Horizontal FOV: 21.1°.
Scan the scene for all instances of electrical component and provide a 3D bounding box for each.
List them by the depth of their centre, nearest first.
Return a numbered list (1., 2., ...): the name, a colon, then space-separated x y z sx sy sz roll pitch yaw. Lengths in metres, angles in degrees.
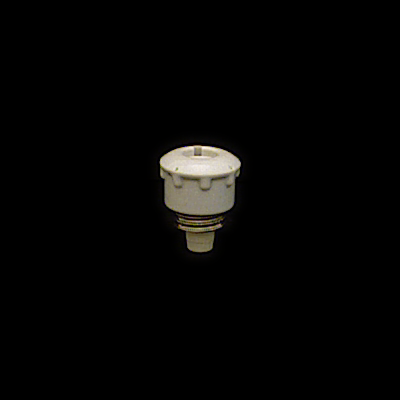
1. electrical component: 0.000 0.000 0.645 0.048 0.062 0.047 1 22 0
